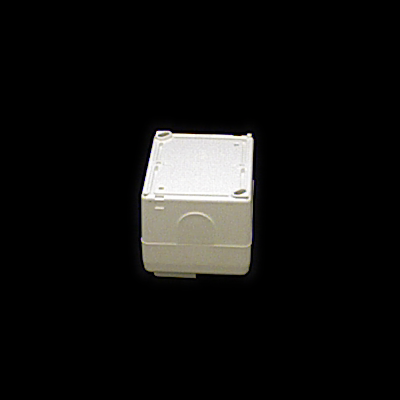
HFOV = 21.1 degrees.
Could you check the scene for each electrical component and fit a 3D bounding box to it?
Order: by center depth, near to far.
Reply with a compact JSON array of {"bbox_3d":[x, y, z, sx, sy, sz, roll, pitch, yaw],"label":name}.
[{"bbox_3d":[0.000,0.000,0.641,0.062,0.062,0.095,2,31,3],"label":"electrical component"}]
